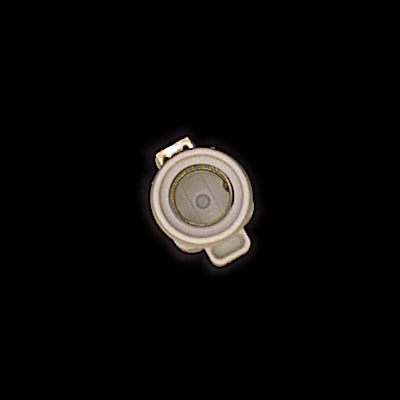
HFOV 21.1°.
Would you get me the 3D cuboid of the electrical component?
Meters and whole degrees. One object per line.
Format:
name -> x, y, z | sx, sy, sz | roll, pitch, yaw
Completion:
electrical component -> 0.000, 0.000, 0.630 | 0.058, 0.078, 0.056 | -30, -6, -3
